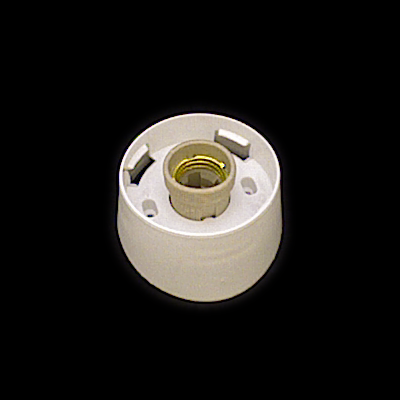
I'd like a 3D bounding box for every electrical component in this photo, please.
[{"bbox_3d":[0.000,0.000,0.627,0.099,0.098,0.064,0,-37,-1],"label":"electrical component"}]
